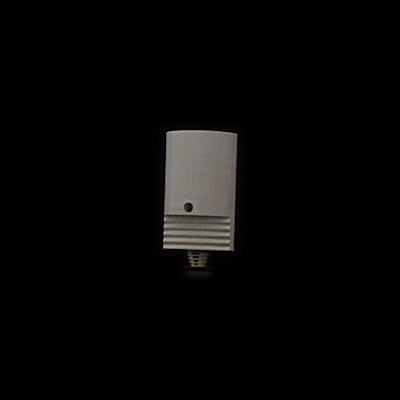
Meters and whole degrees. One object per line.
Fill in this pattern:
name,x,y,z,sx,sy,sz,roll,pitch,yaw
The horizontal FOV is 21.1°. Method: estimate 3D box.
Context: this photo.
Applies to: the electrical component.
electrical component,0.000,0.000,0.651,0.043,0.081,0.043,2,2,0
